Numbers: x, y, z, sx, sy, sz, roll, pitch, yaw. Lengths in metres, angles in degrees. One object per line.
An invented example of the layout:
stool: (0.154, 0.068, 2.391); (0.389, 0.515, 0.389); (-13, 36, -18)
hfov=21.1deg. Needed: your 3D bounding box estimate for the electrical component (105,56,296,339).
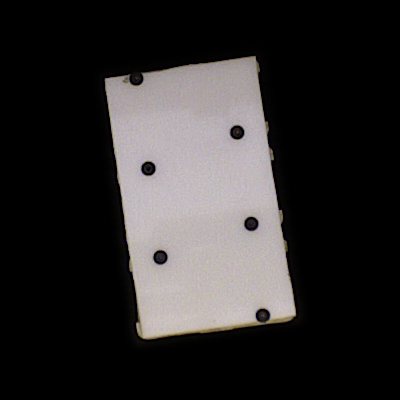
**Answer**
electrical component: (0.000, 0.000, 0.631); (0.089, 0.150, 0.061); (-8, -6, -1)
